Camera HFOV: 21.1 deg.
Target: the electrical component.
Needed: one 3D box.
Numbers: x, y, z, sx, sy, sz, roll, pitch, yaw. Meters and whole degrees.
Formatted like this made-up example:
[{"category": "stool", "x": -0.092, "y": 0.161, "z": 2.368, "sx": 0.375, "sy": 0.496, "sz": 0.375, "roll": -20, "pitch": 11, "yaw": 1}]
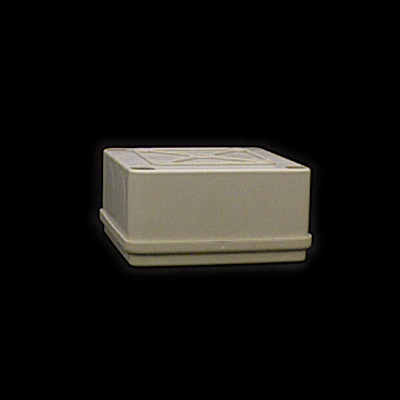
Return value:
[{"category": "electrical component", "x": 0.000, "y": 0.000, "z": 0.647, "sx": 0.109, "sy": 0.056, "sz": 0.107, "roll": -1, "pitch": 10, "yaw": -14}]
